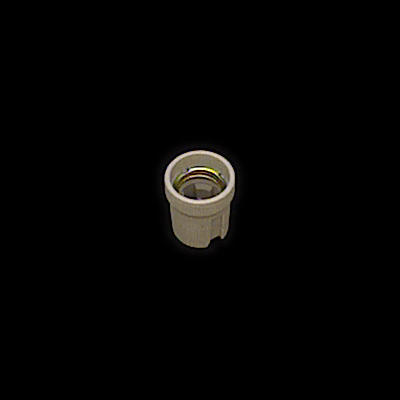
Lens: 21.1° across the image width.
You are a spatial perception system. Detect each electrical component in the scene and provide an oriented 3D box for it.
[{"bbox_3d":[0.000,0.000,0.632,0.040,0.039,0.047,0,-38,-1],"label":"electrical component"}]
